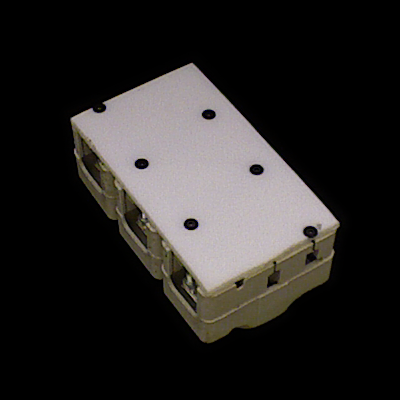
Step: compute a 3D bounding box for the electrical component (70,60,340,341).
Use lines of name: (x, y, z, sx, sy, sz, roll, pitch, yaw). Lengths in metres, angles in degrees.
electrical component: (0.000, 0.000, 0.634, 0.089, 0.148, 0.062, -27, -33, -20)
